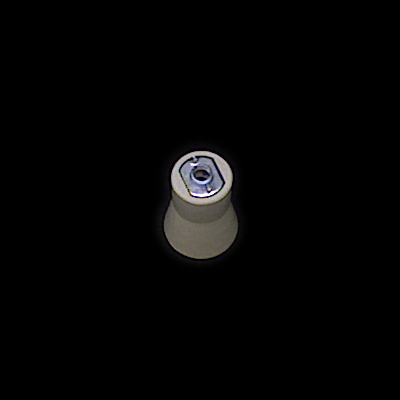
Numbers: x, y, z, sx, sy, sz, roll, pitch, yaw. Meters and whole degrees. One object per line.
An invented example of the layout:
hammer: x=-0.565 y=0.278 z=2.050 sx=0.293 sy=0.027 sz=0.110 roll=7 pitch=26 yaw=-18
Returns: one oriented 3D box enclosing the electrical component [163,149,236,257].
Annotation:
electrical component: x=0.000 y=0.000 z=0.625 sx=0.044 sy=0.044 sz=0.065 roll=0 pitch=-28 yaw=-1
